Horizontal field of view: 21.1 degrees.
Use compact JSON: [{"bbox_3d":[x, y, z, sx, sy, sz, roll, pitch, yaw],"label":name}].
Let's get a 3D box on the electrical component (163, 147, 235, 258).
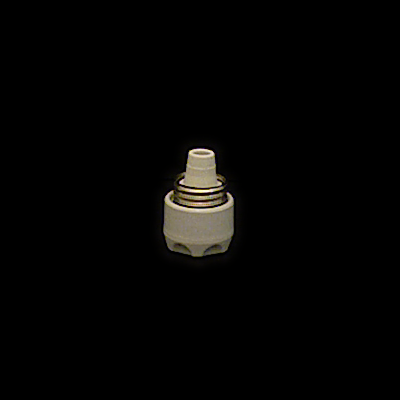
[{"bbox_3d":[0.000,0.000,0.646,0.043,0.063,0.043,2,22,0],"label":"electrical component"}]
